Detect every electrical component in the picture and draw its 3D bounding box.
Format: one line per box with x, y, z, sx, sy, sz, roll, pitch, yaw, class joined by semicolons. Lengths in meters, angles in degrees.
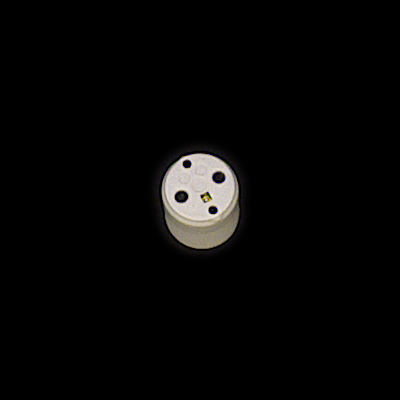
0.000;0.000;0.628;0.045;0.045;0.055;0;-17;1;electrical component
